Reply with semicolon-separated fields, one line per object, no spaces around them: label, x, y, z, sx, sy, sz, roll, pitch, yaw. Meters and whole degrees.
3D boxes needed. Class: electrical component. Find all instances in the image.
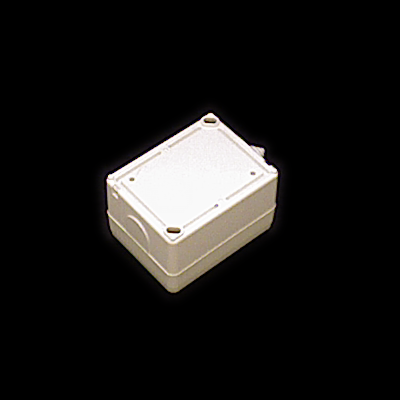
electrical component;0.000;0.000;0.628;0.096;0.061;0.061;-33;59;-24
